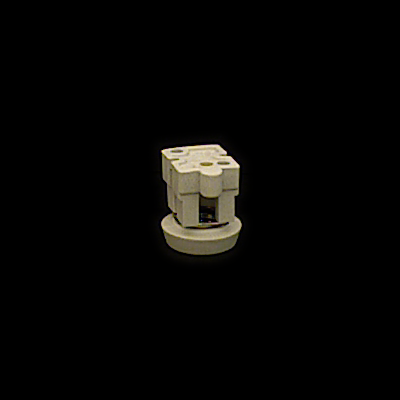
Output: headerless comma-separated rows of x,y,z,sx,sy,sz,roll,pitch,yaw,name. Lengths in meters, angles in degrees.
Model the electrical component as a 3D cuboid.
0.000,0.000,0.647,0.048,0.056,0.065,-6,22,-14,electrical component
